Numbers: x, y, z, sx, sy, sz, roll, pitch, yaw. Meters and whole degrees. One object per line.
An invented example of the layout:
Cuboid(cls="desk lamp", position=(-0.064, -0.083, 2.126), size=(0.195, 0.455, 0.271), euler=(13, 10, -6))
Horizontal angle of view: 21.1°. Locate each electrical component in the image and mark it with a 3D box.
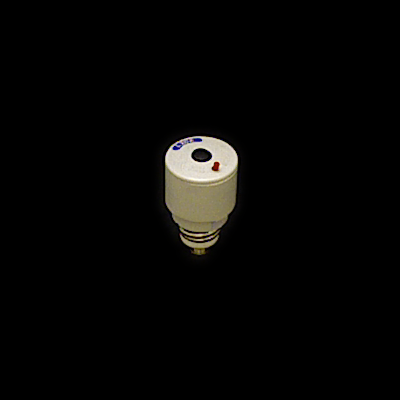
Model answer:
Cuboid(cls="electrical component", position=(0.000, 0.000, 0.622), size=(0.040, 0.079, 0.039), euler=(1, 42, -1))
